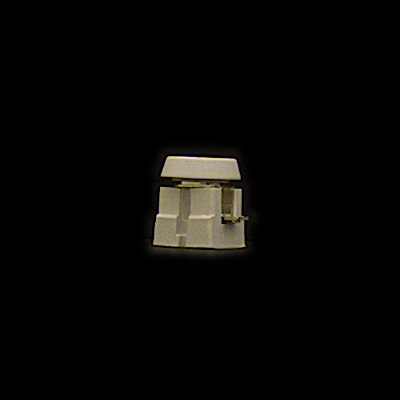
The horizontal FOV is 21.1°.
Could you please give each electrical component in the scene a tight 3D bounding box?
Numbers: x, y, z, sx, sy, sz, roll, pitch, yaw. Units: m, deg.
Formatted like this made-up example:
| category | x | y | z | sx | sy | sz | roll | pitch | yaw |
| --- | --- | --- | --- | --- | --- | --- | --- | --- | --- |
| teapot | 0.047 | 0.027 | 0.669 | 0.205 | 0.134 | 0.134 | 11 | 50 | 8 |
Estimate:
| category | x | y | z | sx | sy | sz | roll | pitch | yaw |
| --- | --- | --- | --- | --- | --- | --- | --- | --- | --- |
| electrical component | 0.000 | 0.000 | 0.657 | 0.066 | 0.055 | 0.049 | 2 | 4 | 35 |
